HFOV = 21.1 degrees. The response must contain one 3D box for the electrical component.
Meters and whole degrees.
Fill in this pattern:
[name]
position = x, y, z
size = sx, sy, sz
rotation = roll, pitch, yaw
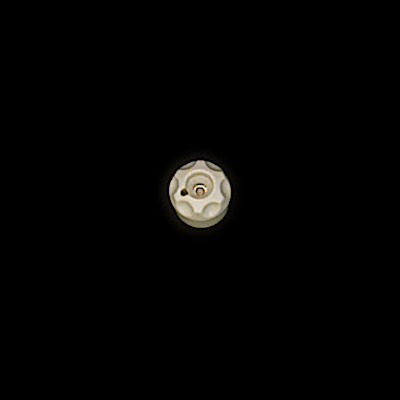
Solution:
[electrical component]
position = 0.000, 0.000, 0.633
size = 0.035, 0.035, 0.061
rotation = 0, -16, 1
